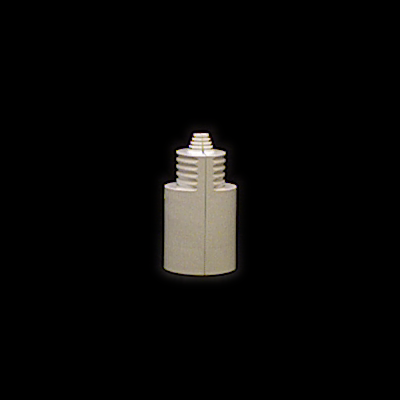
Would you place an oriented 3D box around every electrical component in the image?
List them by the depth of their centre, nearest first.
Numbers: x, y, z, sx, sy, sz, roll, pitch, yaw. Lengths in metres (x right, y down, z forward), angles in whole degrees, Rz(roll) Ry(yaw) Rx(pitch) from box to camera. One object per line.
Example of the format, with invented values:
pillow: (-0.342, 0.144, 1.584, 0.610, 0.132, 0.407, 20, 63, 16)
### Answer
electrical component: (0.000, 0.000, 0.643, 0.043, 0.081, 0.043, 1, 11, 0)
